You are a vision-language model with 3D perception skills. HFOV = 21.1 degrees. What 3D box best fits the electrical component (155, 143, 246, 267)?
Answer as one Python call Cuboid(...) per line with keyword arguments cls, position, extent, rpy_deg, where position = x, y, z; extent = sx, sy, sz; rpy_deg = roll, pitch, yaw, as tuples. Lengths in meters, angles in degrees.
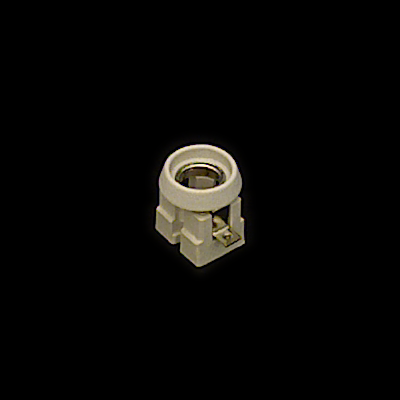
Cuboid(cls="electrical component", position=(0.000, 0.000, 0.640), extent=(0.048, 0.056, 0.065), rpy_deg=(-30, 51, -27))
